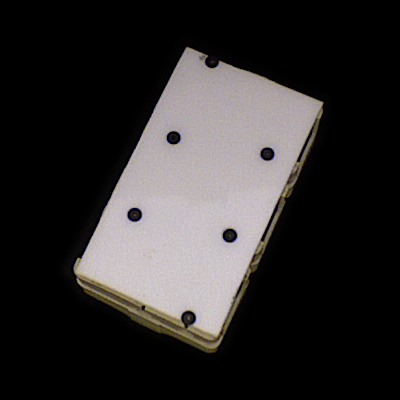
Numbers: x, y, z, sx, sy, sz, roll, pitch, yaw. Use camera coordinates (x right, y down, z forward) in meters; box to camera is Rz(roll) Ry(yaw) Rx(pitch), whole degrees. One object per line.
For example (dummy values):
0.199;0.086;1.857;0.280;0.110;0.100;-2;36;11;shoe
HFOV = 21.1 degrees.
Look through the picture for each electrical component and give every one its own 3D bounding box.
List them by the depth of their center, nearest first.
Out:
0.000;0.000;0.629;0.089;0.150;0.062;24;-15;8;electrical component
